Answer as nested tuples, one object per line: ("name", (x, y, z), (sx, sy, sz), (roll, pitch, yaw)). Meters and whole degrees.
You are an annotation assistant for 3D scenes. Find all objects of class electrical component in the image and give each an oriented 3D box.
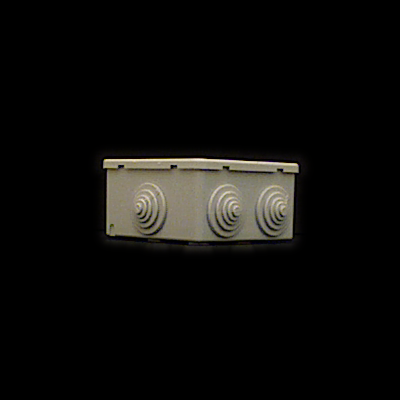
("electrical component", (0.000, 0.000, 0.658), (0.101, 0.048, 0.098), (0, 1, -45))
